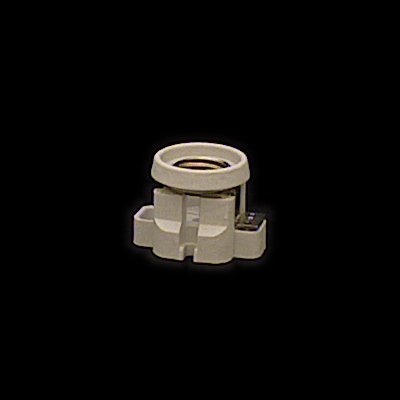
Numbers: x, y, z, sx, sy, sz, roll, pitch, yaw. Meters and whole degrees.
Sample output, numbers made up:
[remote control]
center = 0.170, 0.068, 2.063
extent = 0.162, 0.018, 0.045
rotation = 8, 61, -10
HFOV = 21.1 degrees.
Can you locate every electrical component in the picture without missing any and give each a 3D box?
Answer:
[electrical component]
center = 0.000, 0.000, 0.640
extent = 0.078, 0.057, 0.057
rotation = 6, 22, 13
